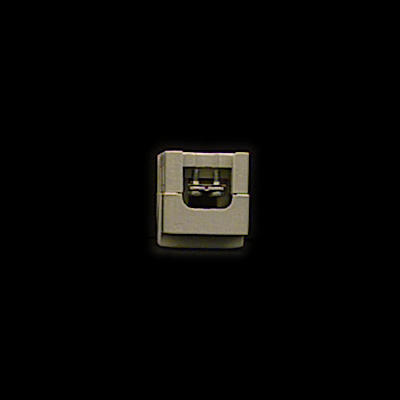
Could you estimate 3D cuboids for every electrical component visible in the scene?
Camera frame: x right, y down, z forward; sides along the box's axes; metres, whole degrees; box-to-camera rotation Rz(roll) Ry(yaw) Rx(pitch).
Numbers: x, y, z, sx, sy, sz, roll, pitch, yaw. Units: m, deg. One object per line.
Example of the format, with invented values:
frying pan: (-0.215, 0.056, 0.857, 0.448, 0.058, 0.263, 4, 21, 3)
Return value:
electrical component: (0.000, 0.000, 0.656, 0.050, 0.056, 0.089, 0, 1, -6)
